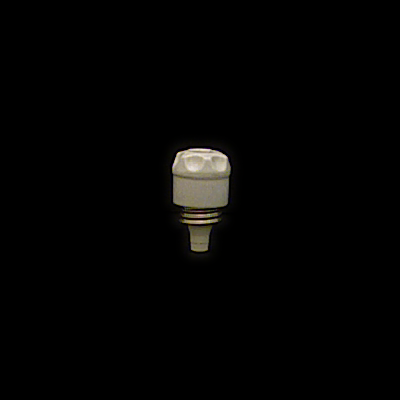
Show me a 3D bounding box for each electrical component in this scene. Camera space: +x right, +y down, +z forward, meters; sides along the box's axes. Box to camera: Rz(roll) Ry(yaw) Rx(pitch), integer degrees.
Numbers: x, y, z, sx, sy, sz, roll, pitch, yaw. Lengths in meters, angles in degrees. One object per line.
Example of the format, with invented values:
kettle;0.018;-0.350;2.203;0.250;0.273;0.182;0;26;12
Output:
electrical component;0.000;0.000;0.652;0.035;0.062;0.035;1;12;0
